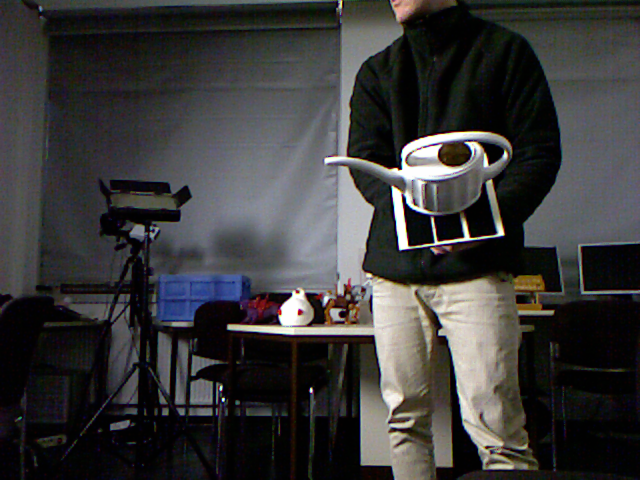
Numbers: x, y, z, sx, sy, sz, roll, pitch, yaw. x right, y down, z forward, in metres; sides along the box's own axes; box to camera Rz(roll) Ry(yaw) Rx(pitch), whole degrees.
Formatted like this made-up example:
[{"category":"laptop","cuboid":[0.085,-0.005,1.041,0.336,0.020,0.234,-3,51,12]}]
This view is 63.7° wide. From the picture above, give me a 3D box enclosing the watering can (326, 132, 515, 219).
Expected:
[{"category":"watering can","cuboid":[0.198,-0.129,1.016,0.348,0.106,0.220,-6,-30,8]}]
